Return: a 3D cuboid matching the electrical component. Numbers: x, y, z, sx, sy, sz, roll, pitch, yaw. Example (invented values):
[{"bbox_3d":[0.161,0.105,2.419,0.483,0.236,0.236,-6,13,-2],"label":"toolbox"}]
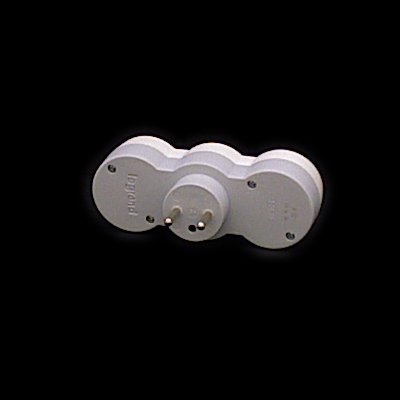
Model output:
[{"bbox_3d":[0.000,0.000,0.640,0.138,0.053,0.073,7,24,13],"label":"electrical component"}]
